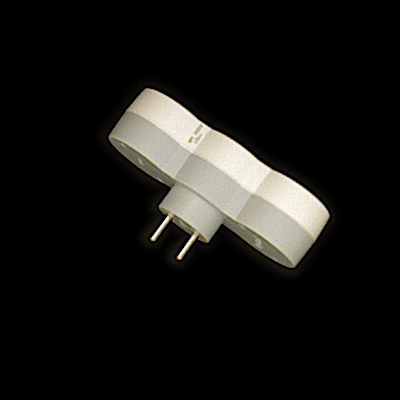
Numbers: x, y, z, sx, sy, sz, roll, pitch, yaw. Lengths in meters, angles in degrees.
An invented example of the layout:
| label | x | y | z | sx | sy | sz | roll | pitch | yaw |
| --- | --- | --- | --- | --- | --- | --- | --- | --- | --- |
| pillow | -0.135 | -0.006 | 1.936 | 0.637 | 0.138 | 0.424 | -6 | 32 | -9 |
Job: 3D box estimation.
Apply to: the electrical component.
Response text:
| label | x | y | z | sx | sy | sz | roll | pitch | yaw |
| --- | --- | --- | --- | --- | --- | --- | --- | --- | --- |
| electrical component | 0.000 | 0.000 | 0.637 | 0.138 | 0.074 | 0.052 | 35 | -12 | 9 |
